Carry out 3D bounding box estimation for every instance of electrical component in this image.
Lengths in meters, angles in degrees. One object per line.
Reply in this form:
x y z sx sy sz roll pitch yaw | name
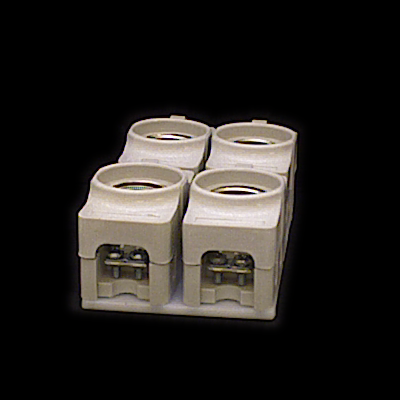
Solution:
0.000 0.000 0.639 0.105 0.061 0.184 4 20 7 | electrical component
